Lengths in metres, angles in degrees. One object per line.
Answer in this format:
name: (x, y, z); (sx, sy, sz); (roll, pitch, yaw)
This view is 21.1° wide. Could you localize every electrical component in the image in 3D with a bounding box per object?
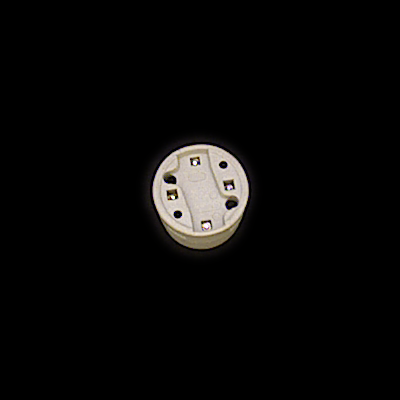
electrical component: (0.000, 0.000, 0.634); (0.055, 0.056, 0.047); (0, -17, 1)
